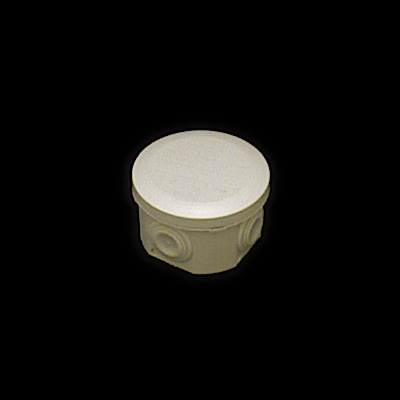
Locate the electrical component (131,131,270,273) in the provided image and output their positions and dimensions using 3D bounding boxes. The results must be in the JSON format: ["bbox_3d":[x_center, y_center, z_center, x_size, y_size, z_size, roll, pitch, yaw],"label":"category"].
[{"bbox_3d":[0.000,0.000,0.634,0.080,0.051,0.079,1,42,0],"label":"electrical component"}]
